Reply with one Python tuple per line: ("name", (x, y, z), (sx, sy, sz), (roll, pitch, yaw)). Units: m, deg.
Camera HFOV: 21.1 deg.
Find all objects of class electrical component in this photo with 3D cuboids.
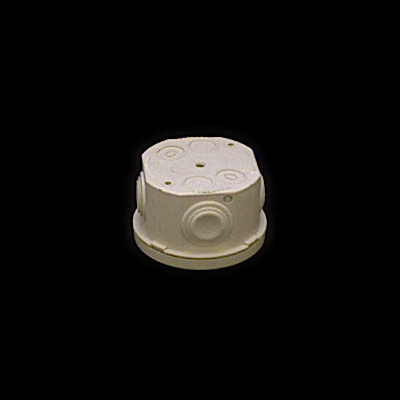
("electrical component", (0.000, 0.000, 0.636), (0.080, 0.051, 0.079), (1, 32, 0))
